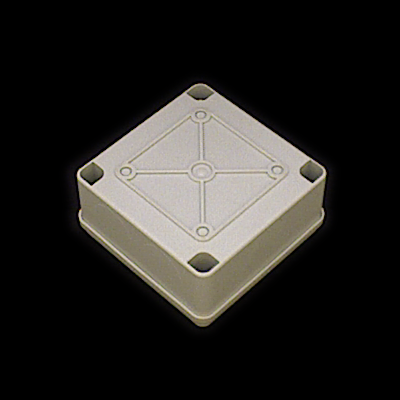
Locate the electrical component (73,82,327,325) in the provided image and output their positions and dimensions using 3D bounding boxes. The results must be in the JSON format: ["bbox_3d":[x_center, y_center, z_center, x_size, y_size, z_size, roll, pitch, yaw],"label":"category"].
[{"bbox_3d":[0.000,0.000,0.630,0.108,0.056,0.109,38,61,25],"label":"electrical component"}]
